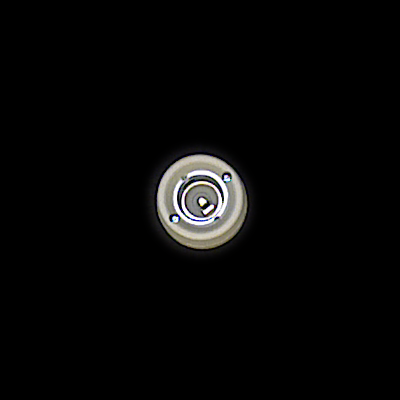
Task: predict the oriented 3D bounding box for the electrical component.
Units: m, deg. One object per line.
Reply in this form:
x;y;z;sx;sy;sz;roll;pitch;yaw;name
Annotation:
0.000;0.000;0.633;0.055;0.055;0.047;0;-6;2;electrical component
